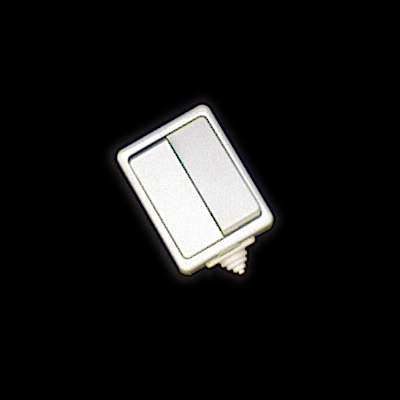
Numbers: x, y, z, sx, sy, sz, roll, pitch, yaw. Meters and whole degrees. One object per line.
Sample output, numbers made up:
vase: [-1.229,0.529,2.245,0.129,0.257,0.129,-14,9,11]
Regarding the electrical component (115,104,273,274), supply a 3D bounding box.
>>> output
electrical component: [0.000,0.000,0.626,0.062,0.096,0.061,-30,-6,-3]
